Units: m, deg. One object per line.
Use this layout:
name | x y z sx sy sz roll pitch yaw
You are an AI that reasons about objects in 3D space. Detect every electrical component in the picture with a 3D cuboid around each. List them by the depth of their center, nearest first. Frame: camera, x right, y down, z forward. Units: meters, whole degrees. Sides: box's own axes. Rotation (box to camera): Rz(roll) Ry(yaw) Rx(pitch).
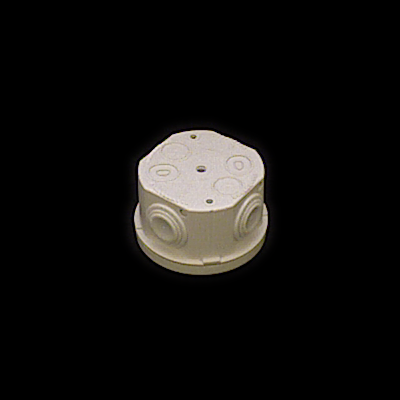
electrical component | 0.000 0.000 0.635 0.080 0.051 0.079 0 42 0
